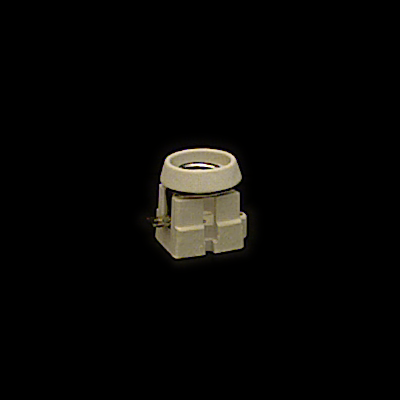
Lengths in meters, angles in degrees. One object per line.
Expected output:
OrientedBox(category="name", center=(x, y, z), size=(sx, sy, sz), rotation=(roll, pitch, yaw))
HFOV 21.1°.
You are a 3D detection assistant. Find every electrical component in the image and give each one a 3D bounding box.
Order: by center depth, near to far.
OrientedBox(category="electrical component", center=(0.000, 0.000, 0.645), size=(0.067, 0.056, 0.047), rotation=(-9, 22, -23))
